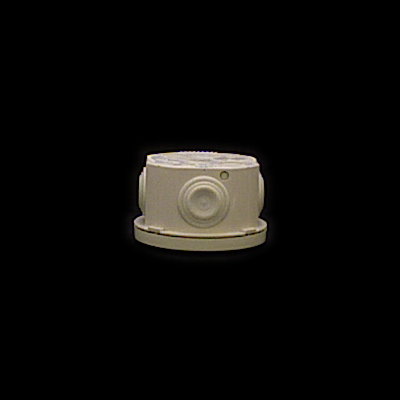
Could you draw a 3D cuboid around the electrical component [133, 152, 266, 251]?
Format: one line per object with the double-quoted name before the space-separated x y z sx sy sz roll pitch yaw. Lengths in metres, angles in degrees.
"electrical component" 0.000 0.000 0.647 0.080 0.051 0.079 2 10 0
